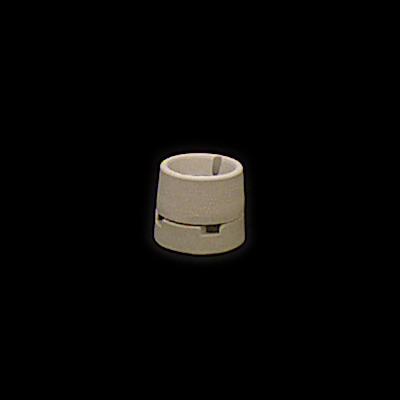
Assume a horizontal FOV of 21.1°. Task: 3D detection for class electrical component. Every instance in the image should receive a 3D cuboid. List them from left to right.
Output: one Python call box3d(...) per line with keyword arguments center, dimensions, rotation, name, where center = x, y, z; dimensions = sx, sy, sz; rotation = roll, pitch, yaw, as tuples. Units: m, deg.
box3d(center=(0.000, 0.000, 0.643), dimensions=(0.055, 0.047, 0.055), rotation=(2, 20, -1), name="electrical component")
